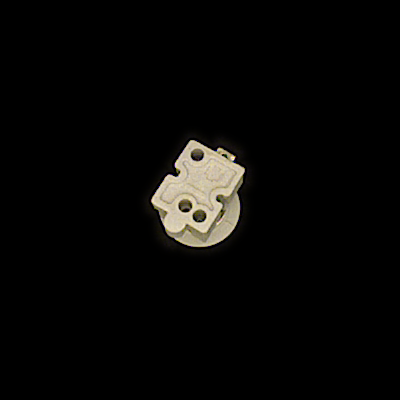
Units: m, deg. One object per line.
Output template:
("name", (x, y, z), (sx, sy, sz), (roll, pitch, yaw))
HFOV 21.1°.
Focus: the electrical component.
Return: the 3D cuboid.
("electrical component", (0.000, 0.000, 0.637), (0.048, 0.067, 0.055), (30, -15, 9))
